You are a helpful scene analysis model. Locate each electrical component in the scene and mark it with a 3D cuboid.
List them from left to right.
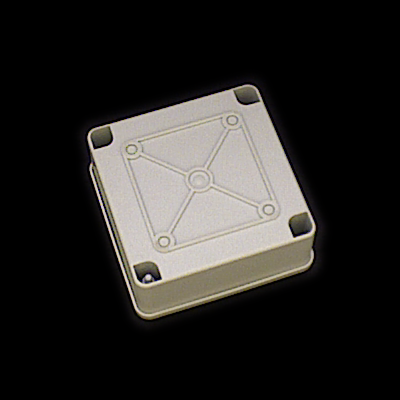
[{"bbox_3d":[0.000,0.000,0.626,0.109,0.109,0.056,-17,-26,-8],"label":"electrical component"}]
